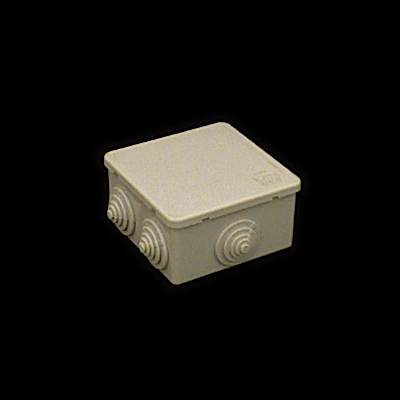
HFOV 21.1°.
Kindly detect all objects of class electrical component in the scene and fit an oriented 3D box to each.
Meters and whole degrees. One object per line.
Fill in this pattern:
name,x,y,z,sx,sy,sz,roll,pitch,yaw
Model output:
electrical component,0.000,0.000,0.645,0.100,0.049,0.098,-17,37,-26
